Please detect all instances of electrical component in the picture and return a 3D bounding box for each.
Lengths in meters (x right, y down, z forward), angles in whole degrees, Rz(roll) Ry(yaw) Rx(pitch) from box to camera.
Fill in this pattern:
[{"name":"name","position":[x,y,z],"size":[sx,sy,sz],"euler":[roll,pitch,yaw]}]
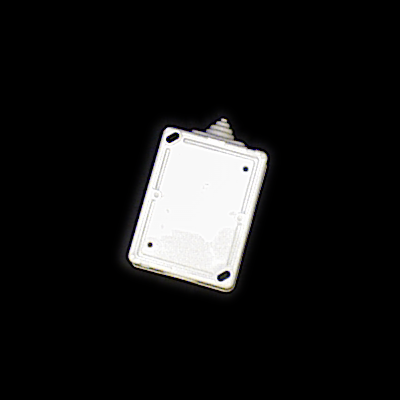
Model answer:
[{"name":"electrical component","position":[0.000,0.000,0.627],"size":[0.062,0.096,0.061],"euler":[15,-6,3]}]
